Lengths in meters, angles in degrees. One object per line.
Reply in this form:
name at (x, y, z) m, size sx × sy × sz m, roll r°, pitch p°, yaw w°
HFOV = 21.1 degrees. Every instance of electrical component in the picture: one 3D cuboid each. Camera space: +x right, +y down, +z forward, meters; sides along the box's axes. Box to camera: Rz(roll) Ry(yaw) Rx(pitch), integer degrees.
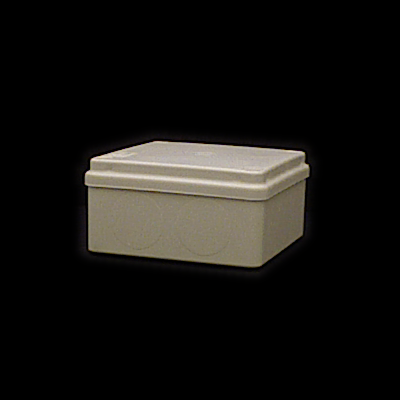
electrical component at (0.000, 0.000, 0.645) m, size 0.108 × 0.056 × 0.108 m, roll 5°, pitch 11°, yaw 19°
